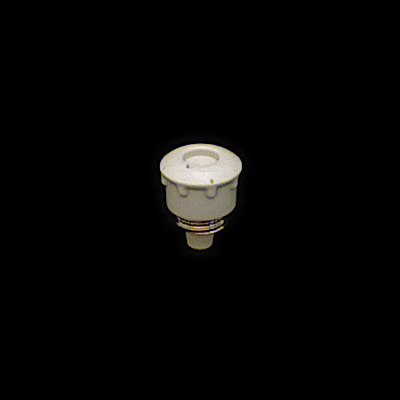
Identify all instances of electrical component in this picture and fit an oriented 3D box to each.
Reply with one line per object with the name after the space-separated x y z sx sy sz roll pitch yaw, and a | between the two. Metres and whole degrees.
0.000 0.000 0.640 0.048 0.063 0.047 1 32 0 | electrical component
